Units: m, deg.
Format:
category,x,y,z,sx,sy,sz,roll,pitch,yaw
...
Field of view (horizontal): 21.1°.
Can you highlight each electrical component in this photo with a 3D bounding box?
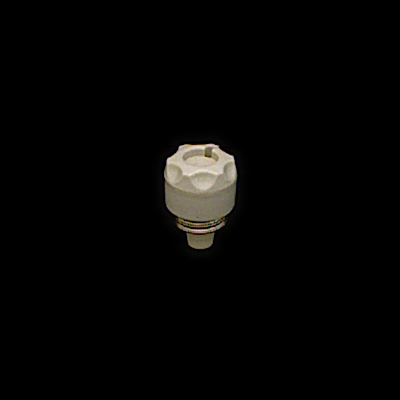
category,x,y,z,sx,sy,sz,roll,pitch,yaw
electrical component,0.000,0.000,0.640,0.043,0.063,0.043,1,33,0
